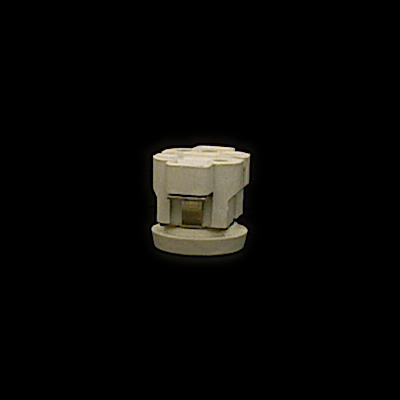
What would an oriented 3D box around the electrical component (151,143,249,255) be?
[{"bbox_3d":[0.000,0.000,0.649,0.057,0.057,0.078,4,13,12],"label":"electrical component"}]
